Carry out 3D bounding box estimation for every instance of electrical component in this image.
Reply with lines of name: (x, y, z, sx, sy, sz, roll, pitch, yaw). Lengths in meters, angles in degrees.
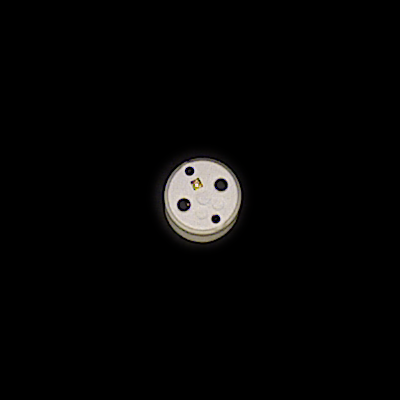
electrical component: (0.000, 0.000, 0.630, 0.045, 0.045, 0.055, 0, -6, 0)
